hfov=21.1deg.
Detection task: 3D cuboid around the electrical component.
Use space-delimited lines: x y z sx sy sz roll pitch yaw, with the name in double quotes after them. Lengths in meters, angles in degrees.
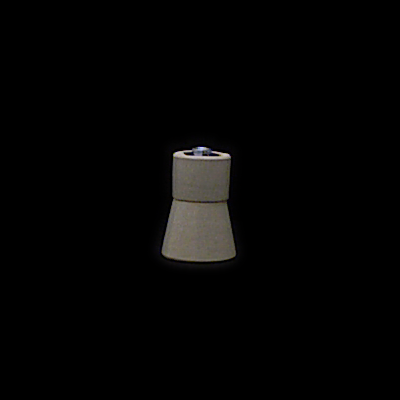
0.000 0.000 0.643 0.044 0.066 0.044 2 11 0 "electrical component"
